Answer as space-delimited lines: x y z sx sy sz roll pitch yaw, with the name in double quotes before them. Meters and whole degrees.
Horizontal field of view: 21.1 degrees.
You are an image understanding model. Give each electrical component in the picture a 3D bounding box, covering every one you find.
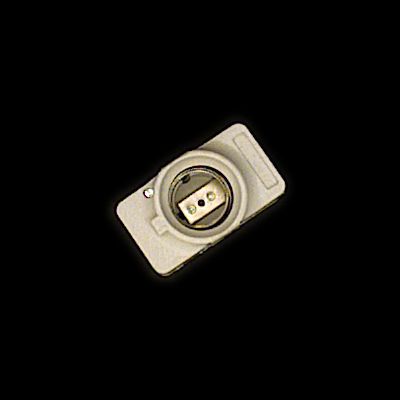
"electrical component" 0.000 0.000 0.637 0.090 0.050 0.055 -35 -5 -3
